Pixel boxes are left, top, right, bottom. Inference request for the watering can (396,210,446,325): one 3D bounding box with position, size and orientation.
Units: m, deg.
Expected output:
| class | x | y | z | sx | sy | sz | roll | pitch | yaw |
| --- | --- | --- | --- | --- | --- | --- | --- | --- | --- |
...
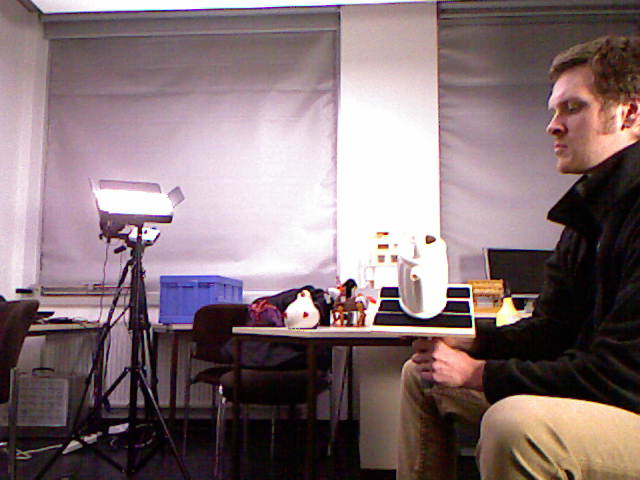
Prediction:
| class | x | y | z | sx | sy | sz | roll | pitch | yaw |
| --- | --- | --- | --- | --- | --- | --- | --- | --- | --- |
| watering can | 0.206 | 0.074 | 1.052 | 0.104 | 0.221 | 0.354 | -1 | 23 | 11 |
